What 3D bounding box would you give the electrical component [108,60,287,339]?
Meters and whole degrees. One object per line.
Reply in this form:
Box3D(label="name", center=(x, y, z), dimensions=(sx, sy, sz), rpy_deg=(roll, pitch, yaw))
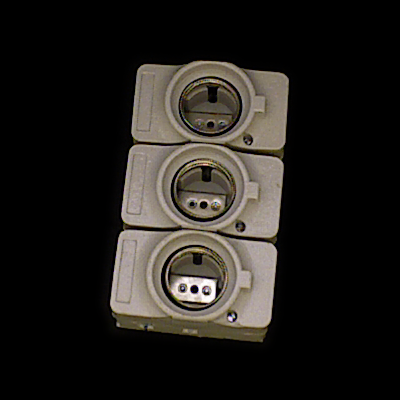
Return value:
Box3D(label="electrical component", center=(0.000, 0.000, 0.631), dimensions=(0.089, 0.150, 0.062), rpy_deg=(5, -16, 1))
